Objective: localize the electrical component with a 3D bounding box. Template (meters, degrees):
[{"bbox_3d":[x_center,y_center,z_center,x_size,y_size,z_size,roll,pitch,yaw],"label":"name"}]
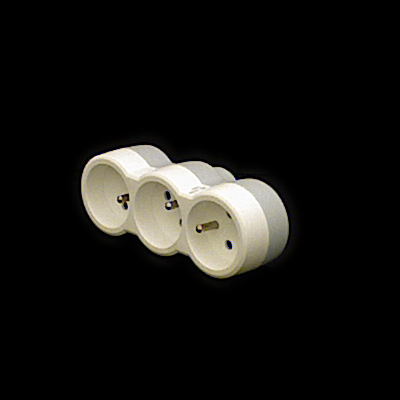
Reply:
[{"bbox_3d":[0.000,0.000,0.649,0.136,0.053,0.074,19,27,39],"label":"electrical component"}]
